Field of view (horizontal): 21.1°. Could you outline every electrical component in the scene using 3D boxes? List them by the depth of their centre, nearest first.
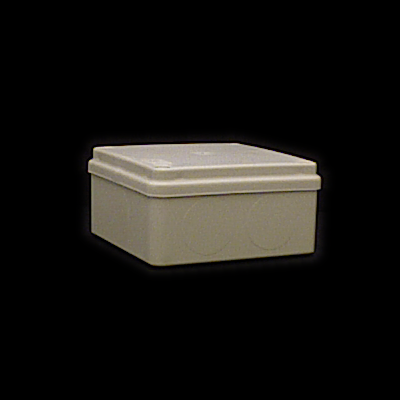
[{"bbox_3d":[0.000,0.000,0.646,0.109,0.056,0.108,-3,11,-25],"label":"electrical component"}]
